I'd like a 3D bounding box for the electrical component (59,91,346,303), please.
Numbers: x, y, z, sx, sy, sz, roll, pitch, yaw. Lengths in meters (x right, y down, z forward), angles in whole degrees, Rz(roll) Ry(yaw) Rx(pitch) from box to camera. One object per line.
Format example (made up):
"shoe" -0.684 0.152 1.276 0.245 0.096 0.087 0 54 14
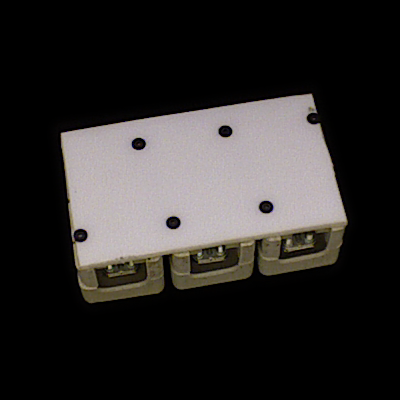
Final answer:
"electrical component" 0.000 0.000 0.630 0.150 0.089 0.062 -9 -27 -4
